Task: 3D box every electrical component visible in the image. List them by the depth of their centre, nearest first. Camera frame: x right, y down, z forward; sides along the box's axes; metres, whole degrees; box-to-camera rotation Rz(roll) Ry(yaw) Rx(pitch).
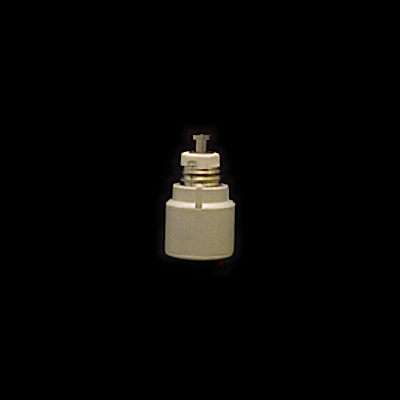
[{"bbox_3d":[0.000,0.000,0.640,0.040,0.079,0.040,1,10,0],"label":"electrical component"}]
